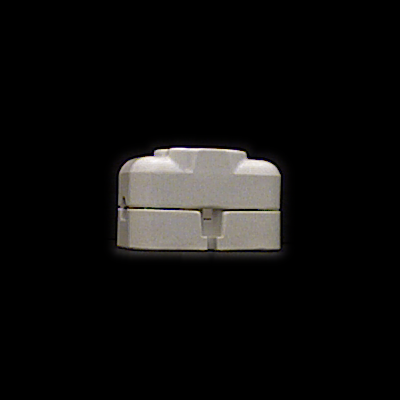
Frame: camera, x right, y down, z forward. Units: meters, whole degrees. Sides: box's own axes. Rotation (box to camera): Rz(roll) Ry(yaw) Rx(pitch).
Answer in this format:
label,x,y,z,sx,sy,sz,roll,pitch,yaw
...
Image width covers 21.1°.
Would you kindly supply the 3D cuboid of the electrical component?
label,x,y,z,sx,sy,sz,roll,pitch,yaw
electrical component,0.000,0.000,0.655,0.096,0.059,0.053,1,1,-19
